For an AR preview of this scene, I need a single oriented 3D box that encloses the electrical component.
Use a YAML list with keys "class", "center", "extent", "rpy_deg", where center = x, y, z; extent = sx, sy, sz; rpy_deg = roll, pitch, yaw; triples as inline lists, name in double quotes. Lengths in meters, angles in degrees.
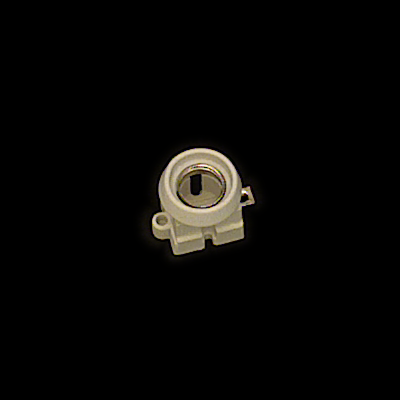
- class: "electrical component"
  center: [0.000, 0.000, 0.638]
  extent: [0.067, 0.048, 0.055]
  rpy_deg: [-15, -24, -7]
